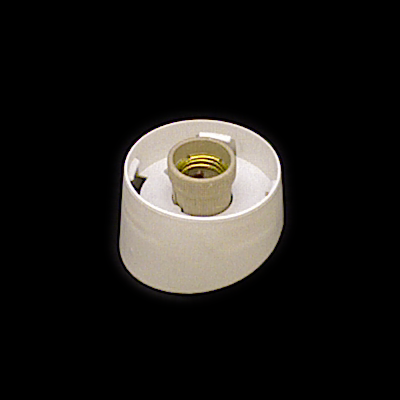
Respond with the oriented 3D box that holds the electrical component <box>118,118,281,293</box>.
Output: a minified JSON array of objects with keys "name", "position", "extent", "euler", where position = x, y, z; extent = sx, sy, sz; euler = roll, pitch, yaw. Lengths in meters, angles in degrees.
[{"name":"electrical component","position":[0.000,0.000,0.630],"extent":[0.099,0.065,0.098],"euler":[0,42,0]}]
